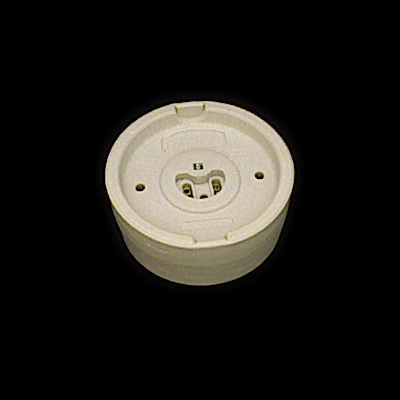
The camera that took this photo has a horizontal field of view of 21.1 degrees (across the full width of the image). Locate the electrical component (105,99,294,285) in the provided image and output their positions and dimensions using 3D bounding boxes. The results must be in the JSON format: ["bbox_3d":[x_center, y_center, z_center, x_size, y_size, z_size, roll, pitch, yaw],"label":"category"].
[{"bbox_3d":[0.000,0.000,0.637,0.108,0.107,0.060,0,-37,-1],"label":"electrical component"}]
